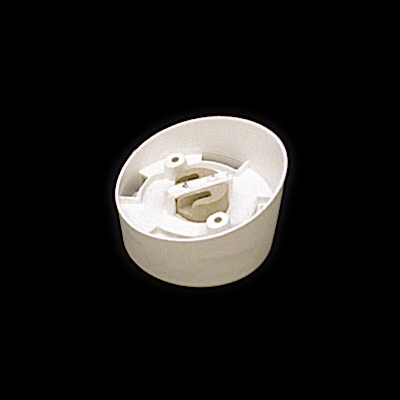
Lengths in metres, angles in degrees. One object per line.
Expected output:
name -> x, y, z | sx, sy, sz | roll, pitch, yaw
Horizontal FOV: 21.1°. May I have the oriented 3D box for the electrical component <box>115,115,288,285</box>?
electrical component -> 0.000, 0.000, 0.630 | 0.099, 0.065, 0.097 | 1, 41, -1
